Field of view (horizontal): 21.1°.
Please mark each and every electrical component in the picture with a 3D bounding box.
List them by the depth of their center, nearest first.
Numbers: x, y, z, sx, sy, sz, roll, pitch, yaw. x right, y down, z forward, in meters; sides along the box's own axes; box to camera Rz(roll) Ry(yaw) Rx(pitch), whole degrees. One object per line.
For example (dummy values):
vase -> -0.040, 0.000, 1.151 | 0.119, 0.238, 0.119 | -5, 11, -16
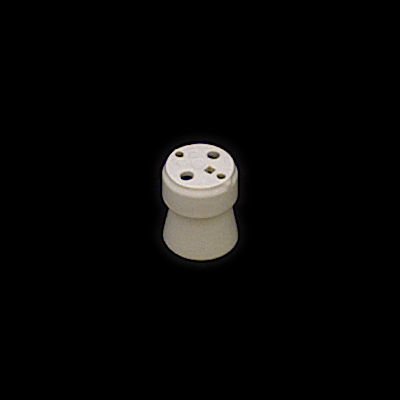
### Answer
electrical component -> 0.000, 0.000, 0.631 | 0.045, 0.055, 0.044 | 0, 42, 0
